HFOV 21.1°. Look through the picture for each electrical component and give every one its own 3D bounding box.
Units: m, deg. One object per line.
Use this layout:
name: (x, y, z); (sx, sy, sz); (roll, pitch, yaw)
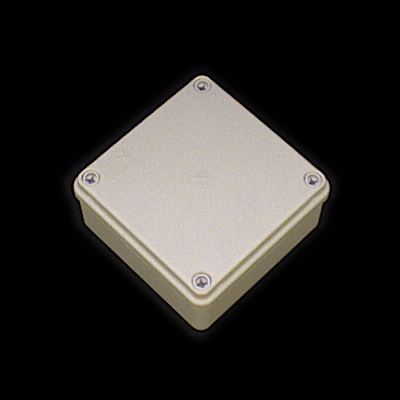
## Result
electrical component: (0.000, 0.000, 0.629); (0.109, 0.108, 0.056); (-41, -20, -19)
